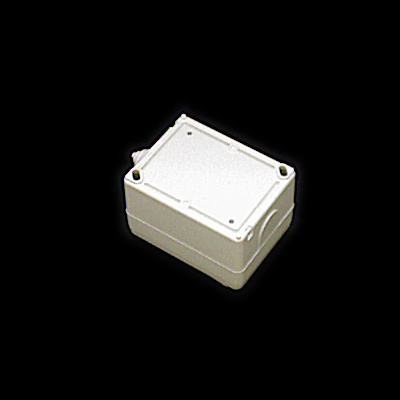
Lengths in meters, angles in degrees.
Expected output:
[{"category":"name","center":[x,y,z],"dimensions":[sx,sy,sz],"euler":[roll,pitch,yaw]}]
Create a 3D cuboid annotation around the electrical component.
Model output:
[{"category":"electrical component","center":[0.000,0.000,0.629],"dimensions":[0.095,0.062,0.061],"euler":[28,-33,19]}]
